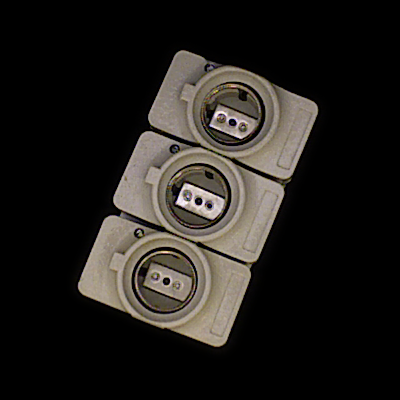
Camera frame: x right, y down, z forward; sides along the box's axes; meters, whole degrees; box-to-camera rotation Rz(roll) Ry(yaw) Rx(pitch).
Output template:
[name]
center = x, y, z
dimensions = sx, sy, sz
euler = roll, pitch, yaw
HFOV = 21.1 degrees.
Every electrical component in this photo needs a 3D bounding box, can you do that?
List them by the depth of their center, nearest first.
[electrical component]
center = 0.000, 0.000, 0.632
dimensions = 0.089, 0.150, 0.061
euler = 22, -6, 3
